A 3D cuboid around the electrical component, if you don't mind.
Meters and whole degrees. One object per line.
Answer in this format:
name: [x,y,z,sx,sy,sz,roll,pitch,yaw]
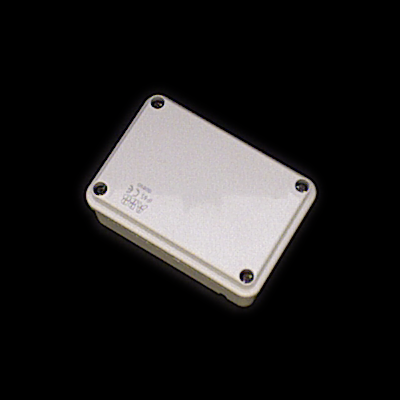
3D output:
electrical component: [0.000,0.000,0.626,0.113,0.078,0.057,30,-14,9]
